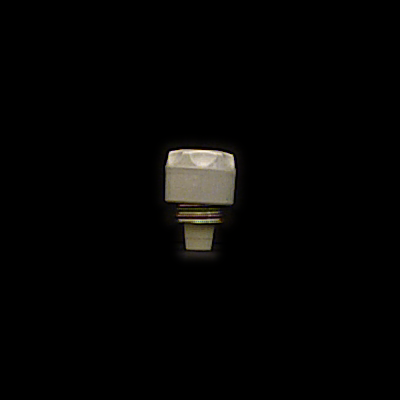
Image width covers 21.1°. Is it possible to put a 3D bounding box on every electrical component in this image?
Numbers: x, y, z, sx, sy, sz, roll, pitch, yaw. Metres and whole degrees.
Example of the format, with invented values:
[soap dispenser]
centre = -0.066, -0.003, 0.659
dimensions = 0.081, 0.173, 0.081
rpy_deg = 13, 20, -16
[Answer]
[electrical component]
centre = 0.000, 0.000, 0.656
dimensions = 0.043, 0.062, 0.043
rpy_deg = 2, 2, 0
